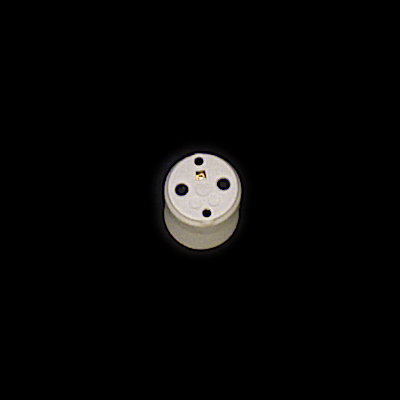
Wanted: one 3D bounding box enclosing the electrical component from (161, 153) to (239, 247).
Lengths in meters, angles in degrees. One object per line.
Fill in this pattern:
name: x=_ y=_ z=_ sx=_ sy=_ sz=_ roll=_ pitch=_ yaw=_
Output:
electrical component: x=0.000 y=0.000 z=0.629 sx=0.045 sy=0.045 sz=0.055 roll=0 pitch=-16 yaw=0
